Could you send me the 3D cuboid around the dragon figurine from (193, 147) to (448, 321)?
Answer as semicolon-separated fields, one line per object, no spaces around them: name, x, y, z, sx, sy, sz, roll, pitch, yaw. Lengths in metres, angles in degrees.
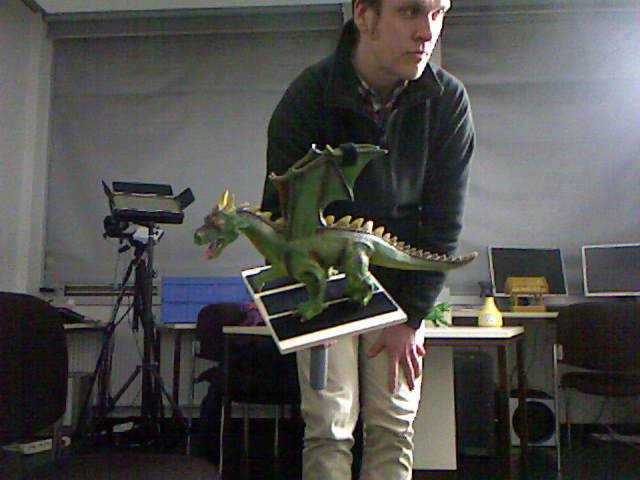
dragon figurine;0.022;-0.020;0.756;0.413;0.238;0.125;-11;37;-19
